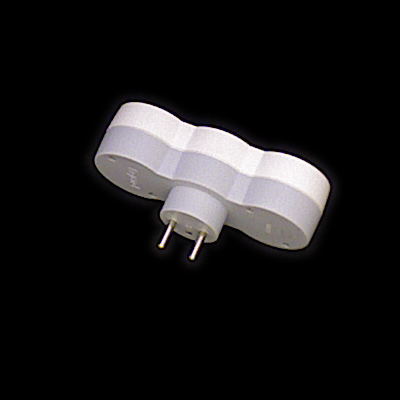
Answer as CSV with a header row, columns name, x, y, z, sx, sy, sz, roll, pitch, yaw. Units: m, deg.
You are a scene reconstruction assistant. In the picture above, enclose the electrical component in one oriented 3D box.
name,x,y,z,sx,sy,sz,roll,pitch,yaw
electrical component,0.000,0.000,0.630,0.138,0.074,0.052,20,-23,9
